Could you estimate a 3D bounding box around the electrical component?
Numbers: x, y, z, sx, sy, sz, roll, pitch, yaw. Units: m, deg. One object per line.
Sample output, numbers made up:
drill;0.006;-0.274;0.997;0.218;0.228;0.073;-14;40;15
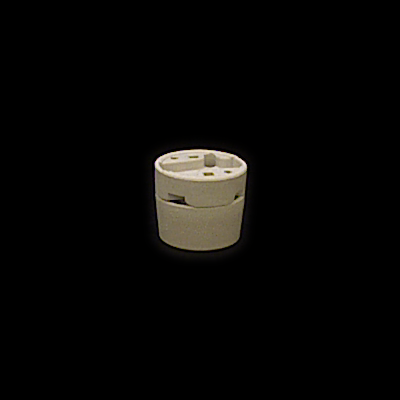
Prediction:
electrical component;0.000;0.000;0.643;0.055;0.047;0.055;1;22;0
